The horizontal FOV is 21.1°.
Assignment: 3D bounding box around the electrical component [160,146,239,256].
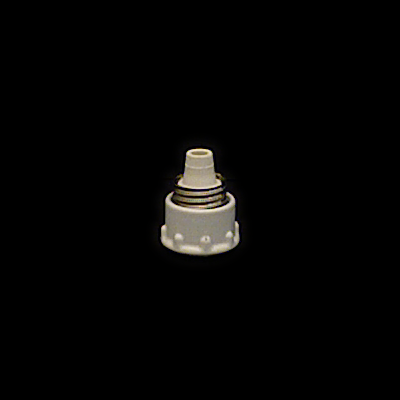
[{"bbox_3d":[0.000,0.000,0.645,0.048,0.062,0.047,0,21,1],"label":"electrical component"}]
